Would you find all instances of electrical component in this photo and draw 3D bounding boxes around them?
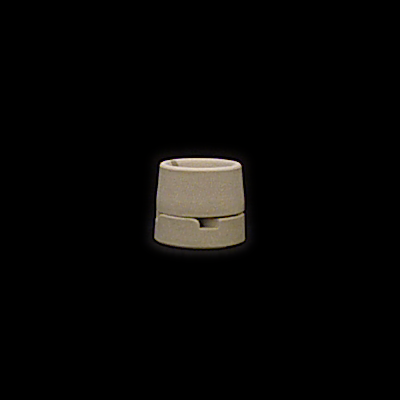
[{"bbox_3d":[0.000,0.000,0.647,0.055,0.047,0.055,1,10,0],"label":"electrical component"}]
